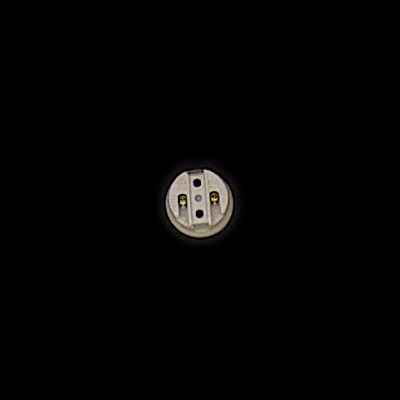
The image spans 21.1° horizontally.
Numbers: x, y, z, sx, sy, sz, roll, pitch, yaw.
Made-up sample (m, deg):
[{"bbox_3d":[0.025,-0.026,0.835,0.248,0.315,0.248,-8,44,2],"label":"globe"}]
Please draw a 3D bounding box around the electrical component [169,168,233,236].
[{"bbox_3d":[0.000,0.000,0.634,0.040,0.040,0.046,0,-7,1],"label":"electrical component"}]
